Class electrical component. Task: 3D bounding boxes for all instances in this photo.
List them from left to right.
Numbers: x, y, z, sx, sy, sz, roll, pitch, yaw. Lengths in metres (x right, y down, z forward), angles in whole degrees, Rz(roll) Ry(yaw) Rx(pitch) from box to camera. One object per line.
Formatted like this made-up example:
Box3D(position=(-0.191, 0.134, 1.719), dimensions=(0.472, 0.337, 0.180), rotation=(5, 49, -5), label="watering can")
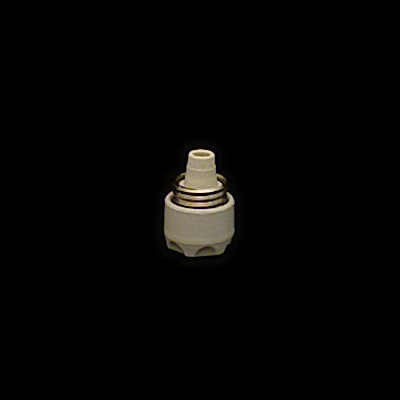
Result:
Box3D(position=(0.000, 0.000, 0.645), dimensions=(0.043, 0.063, 0.043), rotation=(2, 23, 0), label="electrical component")
